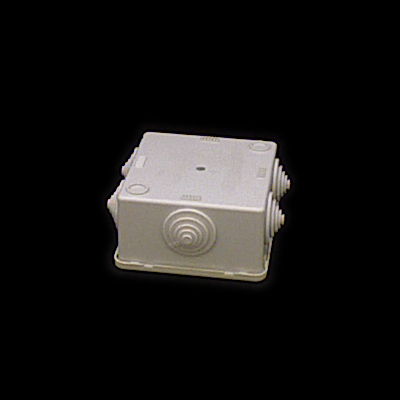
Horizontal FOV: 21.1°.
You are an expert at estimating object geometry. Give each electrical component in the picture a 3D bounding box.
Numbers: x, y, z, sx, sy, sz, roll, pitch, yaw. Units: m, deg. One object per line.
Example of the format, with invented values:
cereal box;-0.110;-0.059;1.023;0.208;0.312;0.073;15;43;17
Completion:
electrical component;0.000;0.000;0.638;0.099;0.049;0.098;5;32;6
